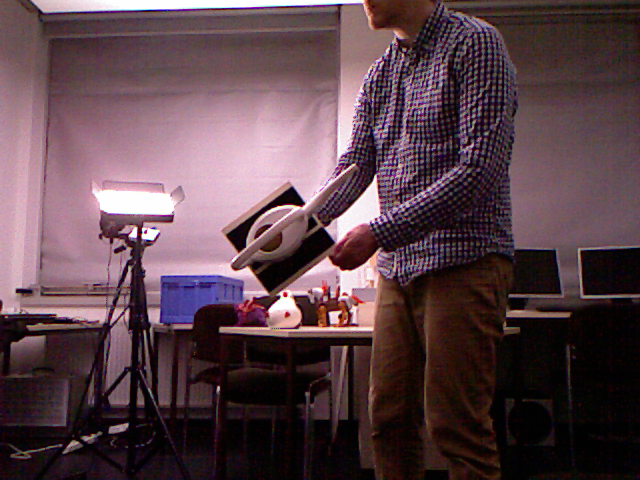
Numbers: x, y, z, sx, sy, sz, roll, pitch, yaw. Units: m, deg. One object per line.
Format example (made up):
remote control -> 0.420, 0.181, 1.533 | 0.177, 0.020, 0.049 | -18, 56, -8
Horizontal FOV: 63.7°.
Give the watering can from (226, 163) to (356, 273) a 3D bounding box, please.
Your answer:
watering can -> -0.060, -0.039, 1.143 | 0.349, 0.104, 0.224 | -38, -2, -2
